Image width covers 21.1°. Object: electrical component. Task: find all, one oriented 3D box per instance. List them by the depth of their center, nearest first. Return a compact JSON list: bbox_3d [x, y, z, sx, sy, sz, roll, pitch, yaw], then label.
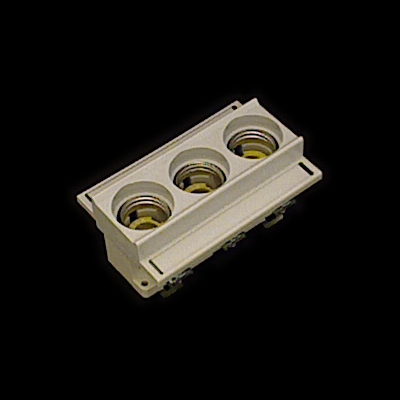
[{"bbox_3d":[0.000,0.000,0.639,0.121,0.063,0.078,-32,58,-22],"label":"electrical component"}]
